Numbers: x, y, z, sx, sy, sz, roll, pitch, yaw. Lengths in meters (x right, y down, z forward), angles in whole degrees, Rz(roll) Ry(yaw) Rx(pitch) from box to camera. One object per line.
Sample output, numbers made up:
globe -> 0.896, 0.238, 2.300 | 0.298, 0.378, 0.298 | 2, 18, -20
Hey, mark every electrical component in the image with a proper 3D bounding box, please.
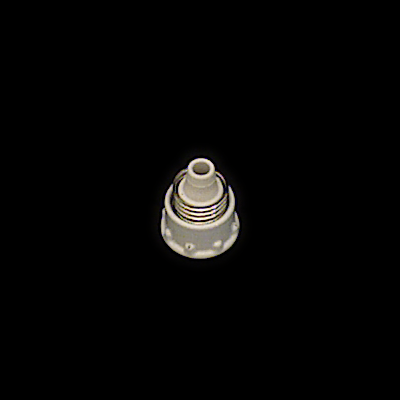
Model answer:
electrical component -> 0.000, 0.000, 0.636 | 0.048, 0.048, 0.062 | 0, -38, -2
